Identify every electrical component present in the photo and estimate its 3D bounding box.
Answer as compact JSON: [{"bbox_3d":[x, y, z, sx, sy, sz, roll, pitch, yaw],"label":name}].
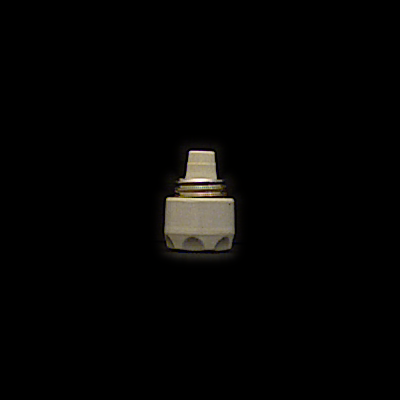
[{"bbox_3d":[0.000,0.000,0.655,0.043,0.062,0.043,1,3,0],"label":"electrical component"}]
